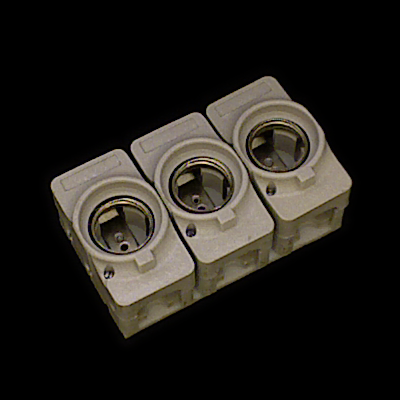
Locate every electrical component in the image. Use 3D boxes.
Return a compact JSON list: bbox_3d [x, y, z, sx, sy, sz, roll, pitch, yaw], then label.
[{"bbox_3d":[0.000,0.000,0.631,0.150,0.089,0.062,-27,-23,-13],"label":"electrical component"}]
